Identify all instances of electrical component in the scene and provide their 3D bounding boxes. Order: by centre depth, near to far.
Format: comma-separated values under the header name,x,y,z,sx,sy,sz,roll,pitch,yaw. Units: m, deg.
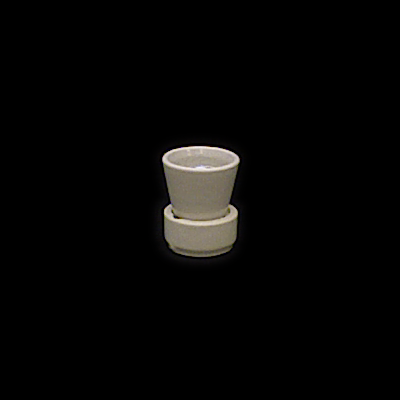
name,x,y,z,sx,sy,sz,roll,pitch,yaw
electrical component,0.000,0.000,0.639,0.045,0.056,0.044,1,21,0
